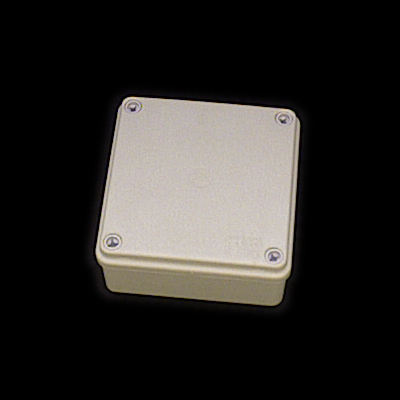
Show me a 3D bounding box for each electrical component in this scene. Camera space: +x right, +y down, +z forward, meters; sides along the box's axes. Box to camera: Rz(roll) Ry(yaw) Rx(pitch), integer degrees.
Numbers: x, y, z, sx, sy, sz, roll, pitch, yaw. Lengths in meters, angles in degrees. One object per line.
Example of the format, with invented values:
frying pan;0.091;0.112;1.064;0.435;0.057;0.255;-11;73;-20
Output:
electrical component;0.000;0.000;0.630;0.109;0.109;0.056;5;-28;2
